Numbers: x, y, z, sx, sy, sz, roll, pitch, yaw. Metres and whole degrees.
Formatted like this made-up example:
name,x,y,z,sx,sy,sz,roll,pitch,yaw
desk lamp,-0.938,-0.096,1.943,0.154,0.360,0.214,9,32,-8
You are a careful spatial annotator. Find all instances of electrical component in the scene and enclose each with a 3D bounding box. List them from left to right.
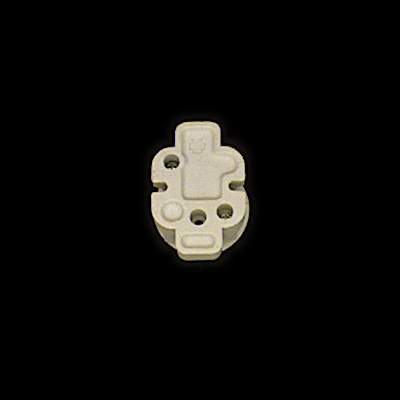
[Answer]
name,x,y,z,sx,sy,sz,roll,pitch,yaw
electrical component,0.000,0.000,0.636,0.058,0.079,0.056,-2,-18,0
